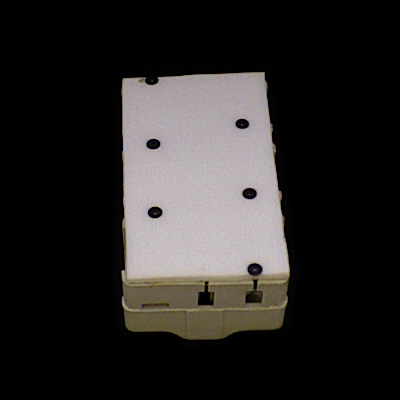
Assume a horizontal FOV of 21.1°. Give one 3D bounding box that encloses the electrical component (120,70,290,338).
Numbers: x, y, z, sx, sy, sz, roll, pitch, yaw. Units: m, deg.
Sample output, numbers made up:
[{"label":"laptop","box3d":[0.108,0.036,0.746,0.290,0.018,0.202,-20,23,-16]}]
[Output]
[{"label":"electrical component","box3d":[0.000,0.000,0.631,0.089,0.148,0.062,-2,-37,-2]}]
